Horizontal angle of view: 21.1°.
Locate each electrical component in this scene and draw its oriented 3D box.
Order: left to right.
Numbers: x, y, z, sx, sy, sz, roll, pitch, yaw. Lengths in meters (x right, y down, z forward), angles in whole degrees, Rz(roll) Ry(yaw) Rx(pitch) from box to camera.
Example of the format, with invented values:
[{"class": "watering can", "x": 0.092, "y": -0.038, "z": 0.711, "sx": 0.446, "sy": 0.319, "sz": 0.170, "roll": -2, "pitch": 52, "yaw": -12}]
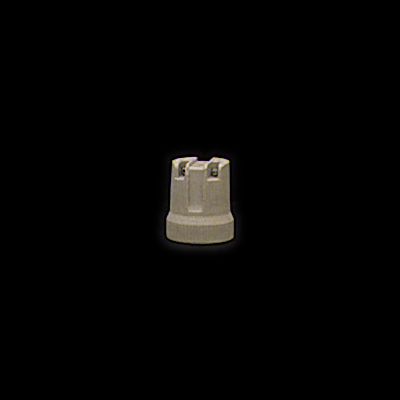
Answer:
[{"class": "electrical component", "x": 0.000, "y": 0.000, "z": 0.645, "sx": 0.040, "sy": 0.046, "sz": 0.040, "roll": 1, "pitch": 11, "yaw": 0}]
